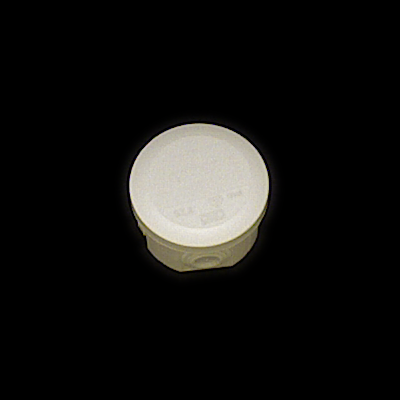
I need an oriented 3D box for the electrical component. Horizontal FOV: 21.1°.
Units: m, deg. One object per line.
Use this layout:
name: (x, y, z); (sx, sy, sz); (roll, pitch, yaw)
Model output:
electrical component: (0.000, 0.000, 0.629); (0.080, 0.080, 0.050); (0, -27, 0)
